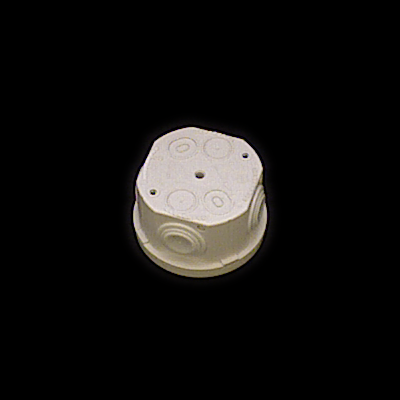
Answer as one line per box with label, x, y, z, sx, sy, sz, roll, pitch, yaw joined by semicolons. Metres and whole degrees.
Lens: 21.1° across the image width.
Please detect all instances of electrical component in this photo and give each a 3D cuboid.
electrical component;0.000;0.000;0.632;0.080;0.080;0.051;0;-37;0
